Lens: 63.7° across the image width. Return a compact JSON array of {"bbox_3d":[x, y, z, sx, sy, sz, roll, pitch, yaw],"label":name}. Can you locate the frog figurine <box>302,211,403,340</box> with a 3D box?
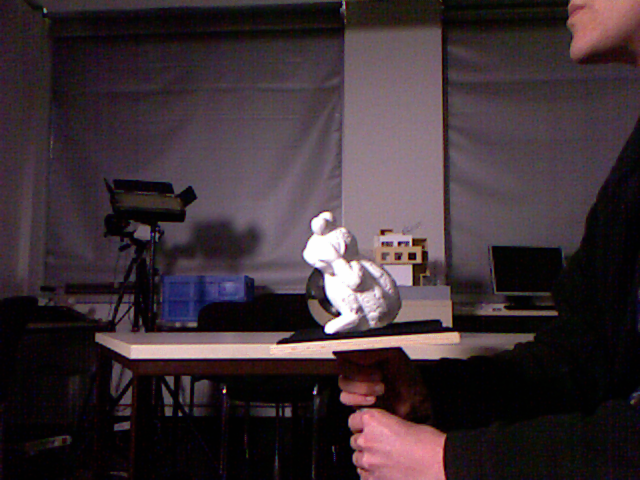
[{"bbox_3d":[0.041,0.041,0.655,0.122,0.160,0.137,-5,-2,16],"label":"frog figurine"}]
